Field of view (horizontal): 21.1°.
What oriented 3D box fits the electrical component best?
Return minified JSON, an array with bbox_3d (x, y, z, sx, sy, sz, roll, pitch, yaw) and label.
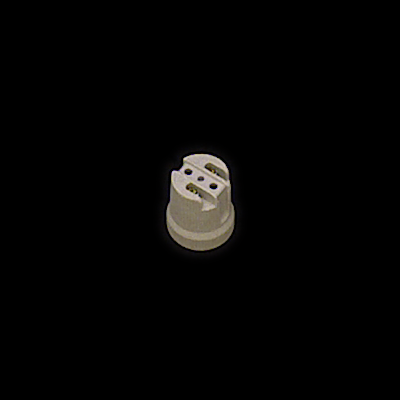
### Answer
[{"bbox_3d":[0.000,0.000,0.633,0.040,0.040,0.046,0,-37,0],"label":"electrical component"}]
